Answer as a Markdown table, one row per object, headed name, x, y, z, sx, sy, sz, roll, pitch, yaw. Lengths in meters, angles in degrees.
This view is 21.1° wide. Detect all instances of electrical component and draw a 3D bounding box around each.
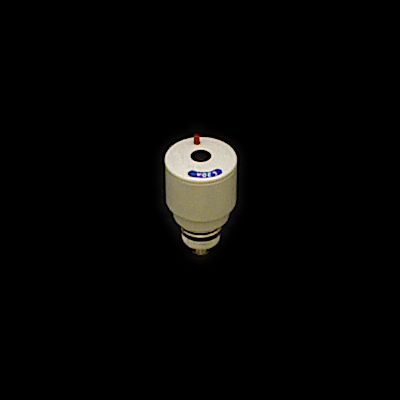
| name | x | y | z | sx | sy | sz | roll | pitch | yaw |
| --- | --- | --- | --- | --- | --- | --- | --- | --- | --- |
| electrical component | 0.000 | 0.000 | 0.626 | 0.040 | 0.079 | 0.039 | 0 | 41 | 0 |
